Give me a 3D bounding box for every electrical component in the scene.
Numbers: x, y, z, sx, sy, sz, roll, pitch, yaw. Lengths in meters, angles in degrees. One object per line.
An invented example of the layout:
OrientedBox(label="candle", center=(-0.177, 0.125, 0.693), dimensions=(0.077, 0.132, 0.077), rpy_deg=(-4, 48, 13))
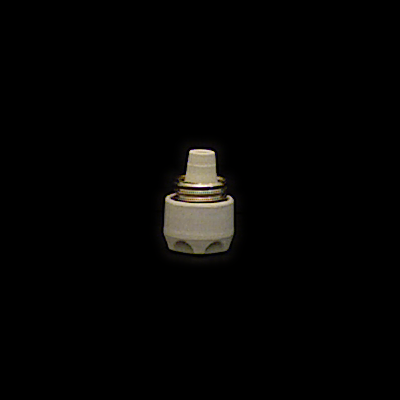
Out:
OrientedBox(label="electrical component", center=(0.000, 0.000, 0.650), dimensions=(0.043, 0.062, 0.043), rpy_deg=(2, 13, 0))
